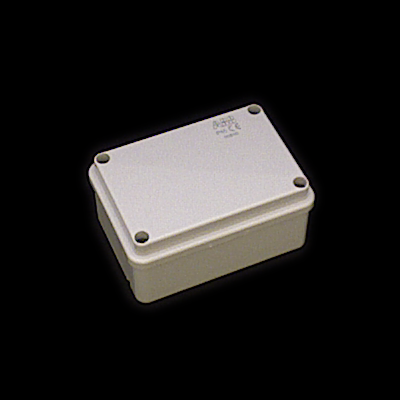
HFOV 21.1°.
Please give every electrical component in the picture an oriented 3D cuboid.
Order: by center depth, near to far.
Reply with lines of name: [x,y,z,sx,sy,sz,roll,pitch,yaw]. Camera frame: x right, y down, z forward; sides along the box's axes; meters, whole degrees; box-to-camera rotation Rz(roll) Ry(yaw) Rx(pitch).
electrical component: [0.000,0.000,0.630,0.113,0.077,0.057,-19,-35,-14]
